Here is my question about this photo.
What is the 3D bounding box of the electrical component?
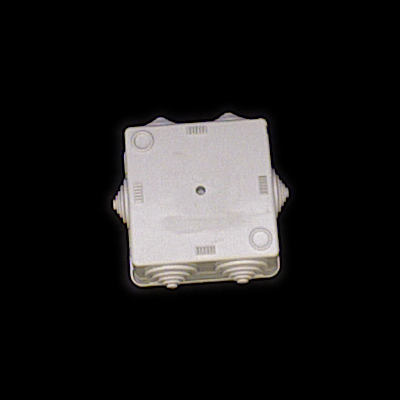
[{"bbox_3d":[0.000,0.000,0.631,0.100,0.100,0.048,-4,-16,-1],"label":"electrical component"}]
